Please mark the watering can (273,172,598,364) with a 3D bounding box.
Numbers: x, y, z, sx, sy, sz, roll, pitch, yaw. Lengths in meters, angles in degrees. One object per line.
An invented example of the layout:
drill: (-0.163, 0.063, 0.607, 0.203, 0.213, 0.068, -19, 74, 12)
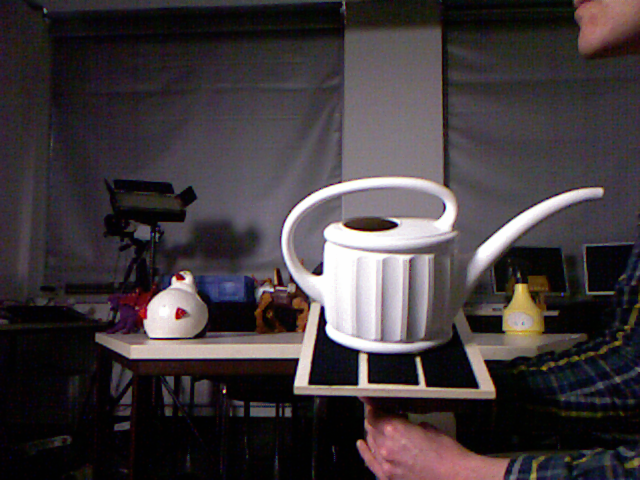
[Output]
watering can: (0.123, 0.033, 0.585, 0.350, 0.222, 0.106, 0, 23, 4)
